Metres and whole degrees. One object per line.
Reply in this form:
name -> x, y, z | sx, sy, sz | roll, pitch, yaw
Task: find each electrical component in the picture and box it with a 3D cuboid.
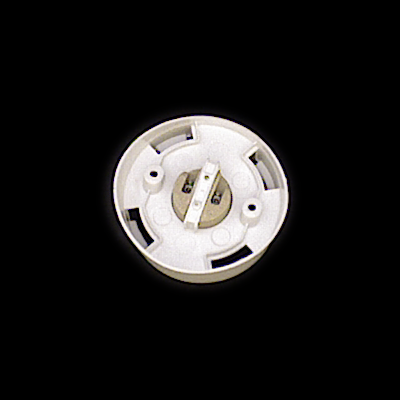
electrical component -> 0.000, 0.000, 0.623 | 0.099, 0.099, 0.064 | 0, -16, 0
